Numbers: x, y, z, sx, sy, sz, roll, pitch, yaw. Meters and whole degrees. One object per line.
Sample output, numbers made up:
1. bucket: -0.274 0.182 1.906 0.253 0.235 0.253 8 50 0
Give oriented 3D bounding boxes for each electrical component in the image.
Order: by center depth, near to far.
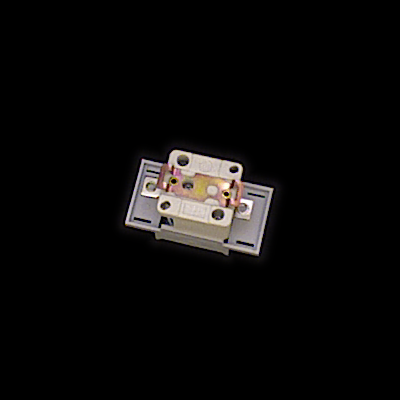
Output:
1. electrical component: 0.000 0.000 0.625 0.081 0.042 0.063 12 -17 4
